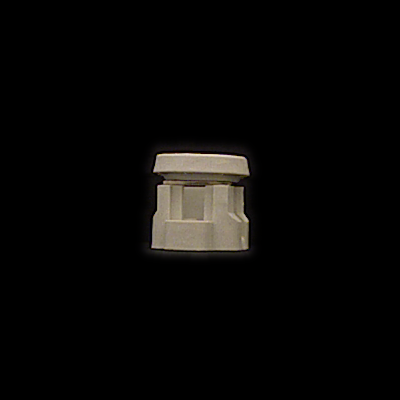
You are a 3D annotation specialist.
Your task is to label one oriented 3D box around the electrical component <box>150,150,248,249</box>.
[{"bbox_3d":[0.000,0.000,0.651,0.058,0.057,0.078,1,0,15],"label":"electrical component"}]
